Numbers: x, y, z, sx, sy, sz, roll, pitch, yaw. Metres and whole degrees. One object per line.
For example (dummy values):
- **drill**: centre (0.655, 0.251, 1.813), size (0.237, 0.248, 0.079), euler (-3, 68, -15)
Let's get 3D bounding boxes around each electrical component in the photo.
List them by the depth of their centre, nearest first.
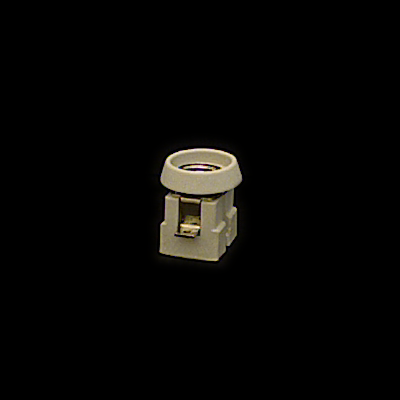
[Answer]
- **electrical component**: centre (0.000, 0.000, 0.646), size (0.048, 0.056, 0.066), euler (5, 22, 15)
